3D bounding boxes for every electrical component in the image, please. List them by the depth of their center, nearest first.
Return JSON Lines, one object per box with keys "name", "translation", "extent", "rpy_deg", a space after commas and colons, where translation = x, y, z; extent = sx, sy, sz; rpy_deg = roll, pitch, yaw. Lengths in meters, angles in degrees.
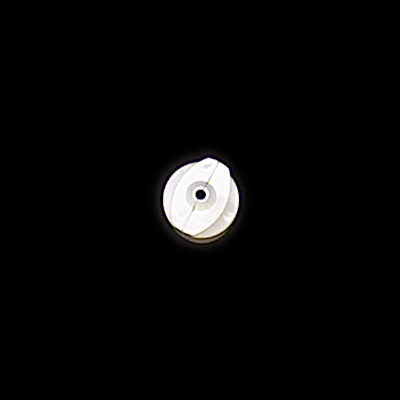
{"name": "electrical component", "translation": [0.000, 0.000, 0.616], "extent": [0.043, 0.043, 0.080], "rpy_deg": [0, -6, 1]}
